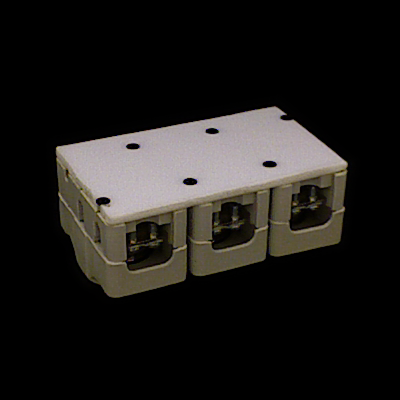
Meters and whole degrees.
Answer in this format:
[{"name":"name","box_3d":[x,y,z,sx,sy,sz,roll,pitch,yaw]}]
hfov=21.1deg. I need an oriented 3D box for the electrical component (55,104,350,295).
[{"name":"electrical component","box_3d":[0.000,0.000,0.643,0.150,0.063,0.087,-12,34,-22]}]
